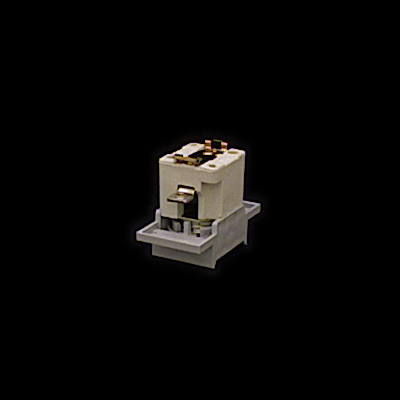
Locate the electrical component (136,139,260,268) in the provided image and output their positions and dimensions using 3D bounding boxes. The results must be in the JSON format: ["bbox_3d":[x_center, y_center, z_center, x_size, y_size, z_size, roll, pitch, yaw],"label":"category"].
[{"bbox_3d":[0.000,0.000,0.639,0.042,0.064,0.080,11,23,25],"label":"electrical component"}]
